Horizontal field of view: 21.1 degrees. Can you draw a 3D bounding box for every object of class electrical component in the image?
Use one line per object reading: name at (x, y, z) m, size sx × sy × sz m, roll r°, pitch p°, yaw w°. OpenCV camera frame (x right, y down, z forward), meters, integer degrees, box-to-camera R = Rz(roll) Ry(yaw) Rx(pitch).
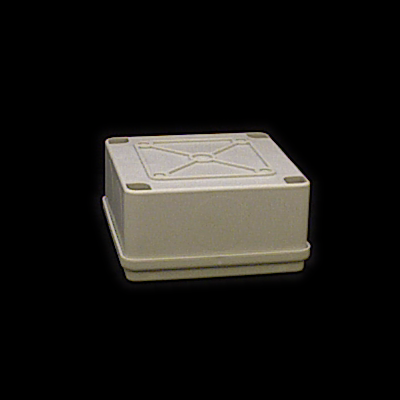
electrical component at (0.000, 0.000, 0.642) m, size 0.109 × 0.057 × 0.107 m, roll -2°, pitch 21°, yaw -11°
